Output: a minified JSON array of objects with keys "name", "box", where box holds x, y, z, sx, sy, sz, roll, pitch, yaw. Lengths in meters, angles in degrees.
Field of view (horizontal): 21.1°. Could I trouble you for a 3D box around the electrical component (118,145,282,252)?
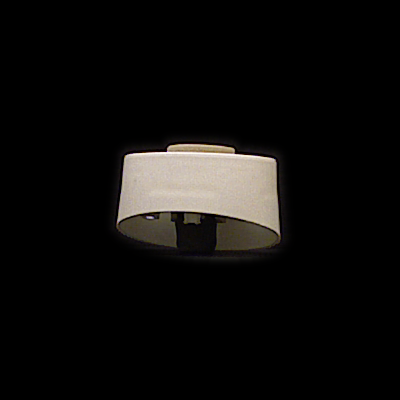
[{"name":"electrical component","box":[0.000,0.000,0.649,0.099,0.064,0.099,1,-1,0]}]
